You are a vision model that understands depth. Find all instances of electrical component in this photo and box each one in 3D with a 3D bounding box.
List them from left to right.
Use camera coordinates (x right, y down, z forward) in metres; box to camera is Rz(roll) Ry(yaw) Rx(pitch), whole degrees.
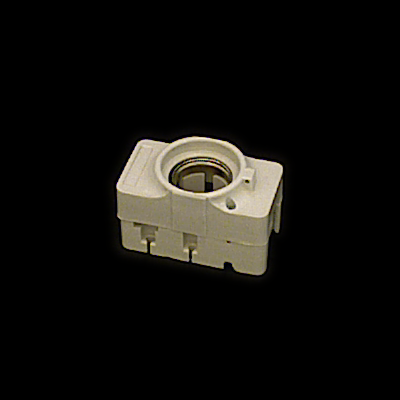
[{"bbox_3d":[0.000,0.000,0.639,0.089,0.056,0.050,10,44,10],"label":"electrical component"}]
